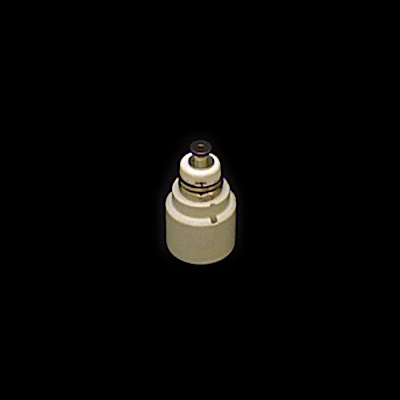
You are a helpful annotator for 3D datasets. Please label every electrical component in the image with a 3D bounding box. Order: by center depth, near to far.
[{"bbox_3d":[0.000,0.000,0.623,0.040,0.079,0.039,0,41,0],"label":"electrical component"}]
